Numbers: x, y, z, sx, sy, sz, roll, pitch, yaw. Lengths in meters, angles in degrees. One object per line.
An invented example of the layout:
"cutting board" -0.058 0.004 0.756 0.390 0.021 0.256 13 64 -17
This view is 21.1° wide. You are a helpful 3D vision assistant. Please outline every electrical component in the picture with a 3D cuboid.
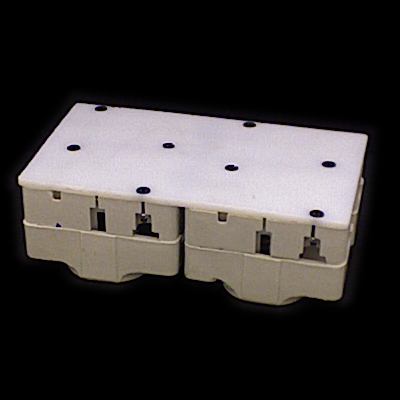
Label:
"electrical component" 0.000 0.000 0.634 0.186 0.061 0.104 7 32 10
